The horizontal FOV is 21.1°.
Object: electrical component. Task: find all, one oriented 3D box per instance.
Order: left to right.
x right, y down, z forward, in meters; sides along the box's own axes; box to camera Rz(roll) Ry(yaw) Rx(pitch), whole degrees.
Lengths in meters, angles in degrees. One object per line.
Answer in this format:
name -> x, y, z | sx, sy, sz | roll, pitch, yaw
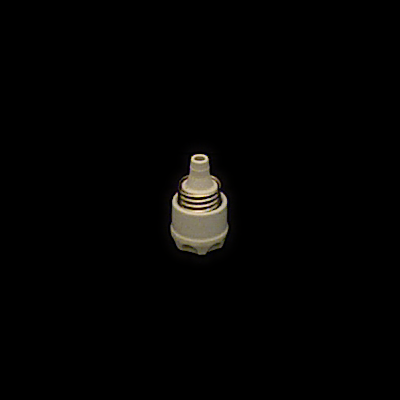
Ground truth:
electrical component -> 0.000, 0.000, 0.647 | 0.035, 0.062, 0.034 | 0, 34, 0
